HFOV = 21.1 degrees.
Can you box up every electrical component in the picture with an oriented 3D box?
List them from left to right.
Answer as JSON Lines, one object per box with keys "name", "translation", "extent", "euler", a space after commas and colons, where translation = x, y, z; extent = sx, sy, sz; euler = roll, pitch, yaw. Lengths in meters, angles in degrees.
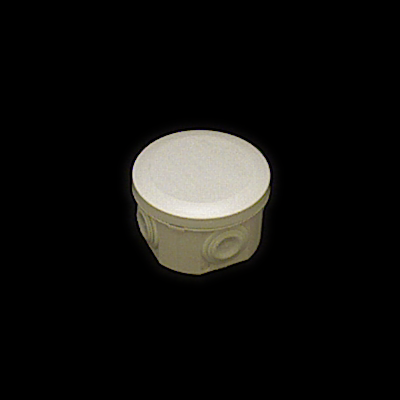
{"name": "electrical component", "translation": [0.000, 0.000, 0.632], "extent": [0.080, 0.051, 0.080], "euler": [0, 42, 0]}
